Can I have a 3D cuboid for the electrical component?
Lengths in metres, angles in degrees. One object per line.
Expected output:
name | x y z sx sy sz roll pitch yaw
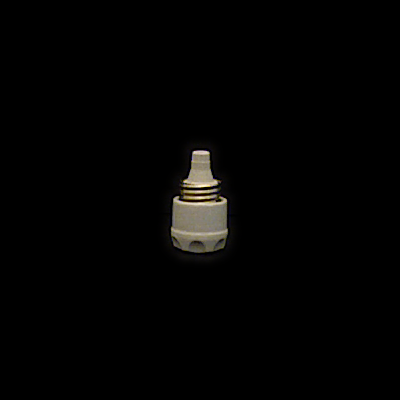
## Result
electrical component | 0.000 0.000 0.658 0.035 0.062 0.035 1 14 0
